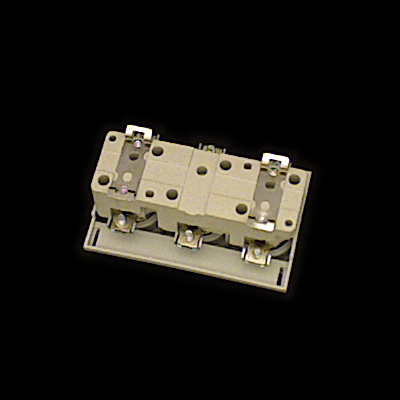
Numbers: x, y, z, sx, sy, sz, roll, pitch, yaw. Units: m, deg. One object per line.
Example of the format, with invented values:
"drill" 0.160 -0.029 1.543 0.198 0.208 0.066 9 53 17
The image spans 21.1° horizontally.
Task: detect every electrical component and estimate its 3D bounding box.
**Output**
"electrical component" 0.000 0.000 0.632 0.121 0.079 0.063 11 -25 6
